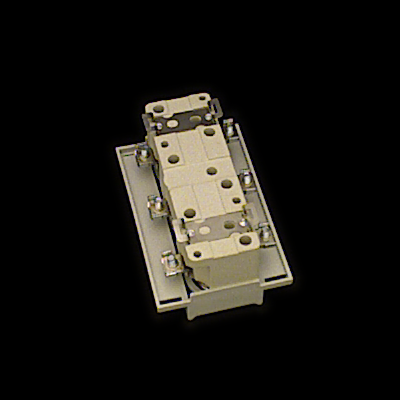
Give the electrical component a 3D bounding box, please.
[{"bbox_3d":[0.000,0.000,0.634,0.079,0.120,0.063,-12,-36,-8],"label":"electrical component"}]
